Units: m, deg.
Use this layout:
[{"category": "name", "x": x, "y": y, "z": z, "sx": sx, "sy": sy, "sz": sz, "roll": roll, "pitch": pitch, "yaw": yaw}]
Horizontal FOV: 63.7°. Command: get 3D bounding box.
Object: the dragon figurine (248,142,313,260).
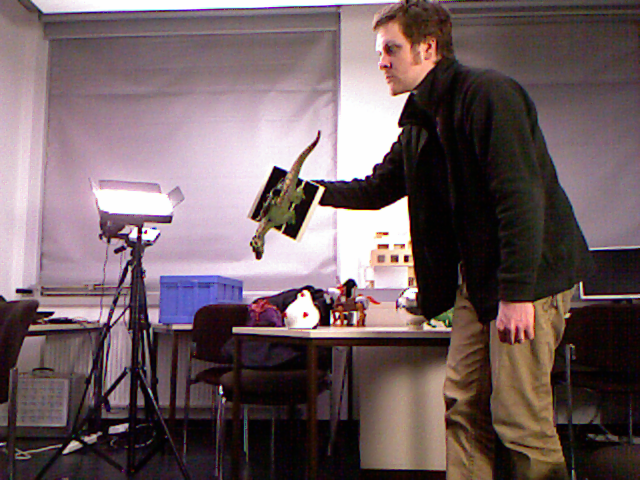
[{"category": "dragon figurine", "x": -0.128, "y": -0.130, "z": 1.621, "sx": 0.122, "sy": 0.408, "sz": 0.244, "roll": 23, "pitch": 7, "yaw": 3}]
